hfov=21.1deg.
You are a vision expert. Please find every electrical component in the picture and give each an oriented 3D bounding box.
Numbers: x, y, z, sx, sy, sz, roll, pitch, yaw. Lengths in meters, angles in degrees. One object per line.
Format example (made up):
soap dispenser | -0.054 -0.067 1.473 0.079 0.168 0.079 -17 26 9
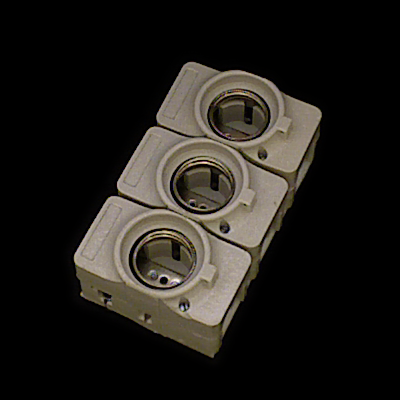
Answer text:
electrical component | 0.000 0.000 0.631 0.089 0.149 0.062 23 -24 11
